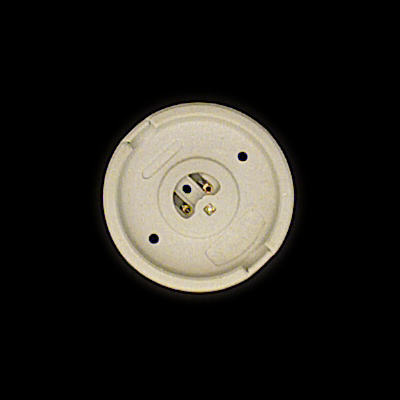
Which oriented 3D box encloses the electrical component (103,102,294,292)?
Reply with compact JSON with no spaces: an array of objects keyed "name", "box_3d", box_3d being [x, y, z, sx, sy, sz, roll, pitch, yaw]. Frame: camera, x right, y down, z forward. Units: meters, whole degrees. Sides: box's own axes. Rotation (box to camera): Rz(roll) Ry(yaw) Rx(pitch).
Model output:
[{"name":"electrical component","box_3d":[0.000,0.000,0.635,0.108,0.108,0.060,0,-6,0]}]
